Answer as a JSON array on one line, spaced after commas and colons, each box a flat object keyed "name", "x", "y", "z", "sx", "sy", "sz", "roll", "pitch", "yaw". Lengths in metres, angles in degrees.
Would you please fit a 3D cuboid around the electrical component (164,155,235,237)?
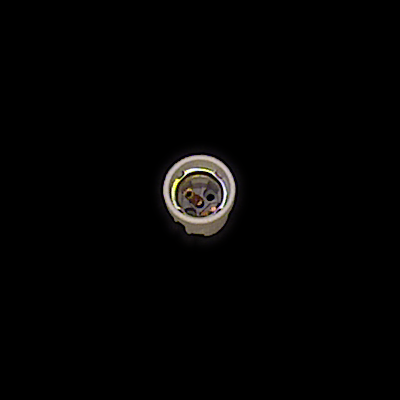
[{"name": "electrical component", "x": 0.000, "y": 0.000, "z": 0.626, "sx": 0.040, "sy": 0.040, "sz": 0.046, "roll": 0, "pitch": -16, "yaw": 0}]
